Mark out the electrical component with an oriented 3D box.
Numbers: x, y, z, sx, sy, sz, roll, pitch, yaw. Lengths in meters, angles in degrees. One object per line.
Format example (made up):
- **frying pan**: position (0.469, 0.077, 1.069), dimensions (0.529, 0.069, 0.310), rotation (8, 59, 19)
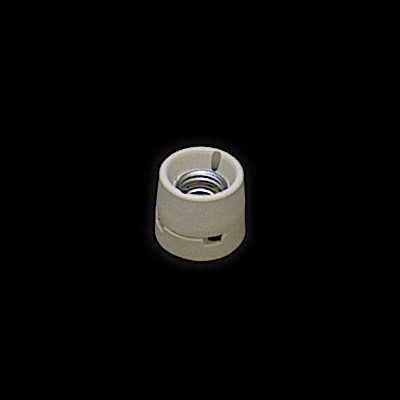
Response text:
- **electrical component**: position (0.000, 0.000, 0.637), dimensions (0.055, 0.047, 0.055), rotation (1, 41, -1)
